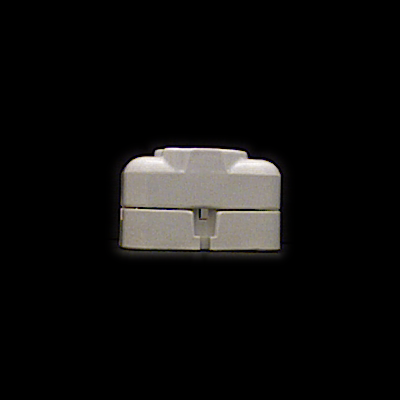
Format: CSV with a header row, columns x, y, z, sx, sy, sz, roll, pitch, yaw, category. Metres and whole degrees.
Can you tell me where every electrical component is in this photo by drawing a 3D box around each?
x,y,z,sx,sy,sz,roll,pitch,yaw,category
0.000,0.000,0.655,0.095,0.059,0.053,1,1,-9,electrical component
